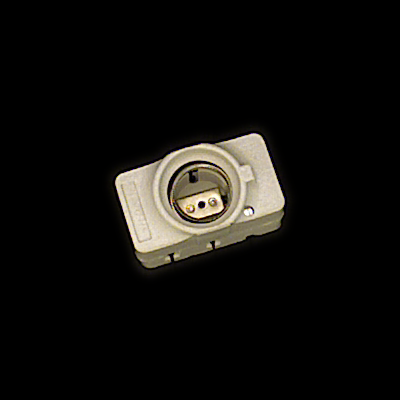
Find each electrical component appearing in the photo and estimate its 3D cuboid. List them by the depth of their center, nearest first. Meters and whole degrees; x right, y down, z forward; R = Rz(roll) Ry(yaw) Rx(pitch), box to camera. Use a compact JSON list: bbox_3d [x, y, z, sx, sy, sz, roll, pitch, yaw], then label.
[{"bbox_3d":[0.000,0.000,0.636,0.090,0.050,0.055,-18,-15,-5],"label":"electrical component"}]
